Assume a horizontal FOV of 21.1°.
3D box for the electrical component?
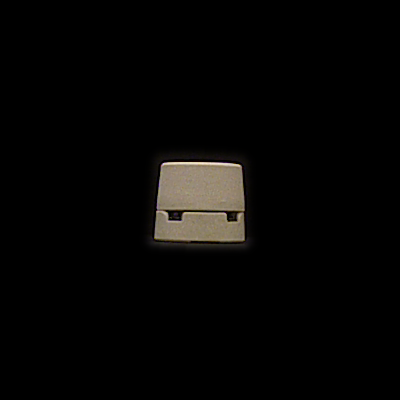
[{"bbox_3d":[0.000,0.000,0.652,0.055,0.047,0.055,1,0,0],"label":"electrical component"}]
